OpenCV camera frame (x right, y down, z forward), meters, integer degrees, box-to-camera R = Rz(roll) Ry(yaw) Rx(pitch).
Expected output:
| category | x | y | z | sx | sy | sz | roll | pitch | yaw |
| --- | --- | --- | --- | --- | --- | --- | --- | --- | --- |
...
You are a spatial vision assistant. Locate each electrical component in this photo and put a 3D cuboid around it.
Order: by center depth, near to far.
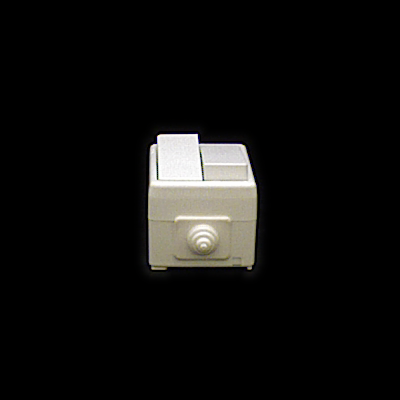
| category | x | y | z | sx | sy | sz | roll | pitch | yaw |
| --- | --- | --- | --- | --- | --- | --- | --- | --- | --- |
| electrical component | 0.000 | 0.000 | 0.636 | 0.062 | 0.061 | 0.095 | 0 | 20 | -2 |
